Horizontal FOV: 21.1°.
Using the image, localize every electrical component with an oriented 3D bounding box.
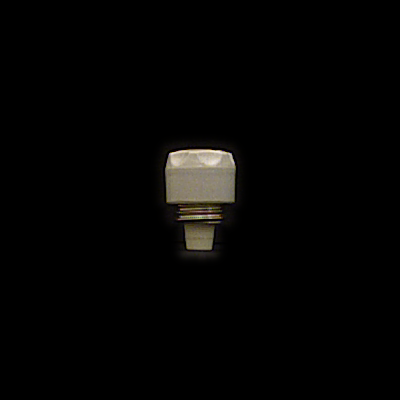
[{"bbox_3d":[0.000,0.000,0.656,0.043,0.062,0.043,1,1,1],"label":"electrical component"}]
